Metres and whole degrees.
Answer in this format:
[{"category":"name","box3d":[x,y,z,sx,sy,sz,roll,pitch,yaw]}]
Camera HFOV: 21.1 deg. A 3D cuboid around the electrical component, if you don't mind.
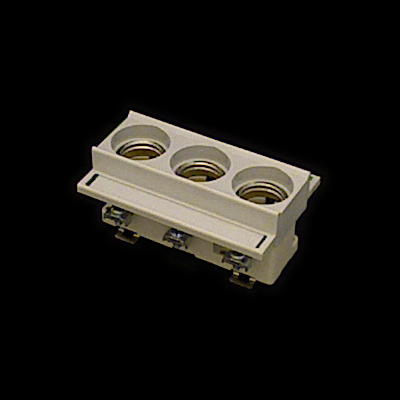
[{"category":"electrical component","box3d":[0.000,0.000,0.644,0.121,0.064,0.078,20,45,20]}]
